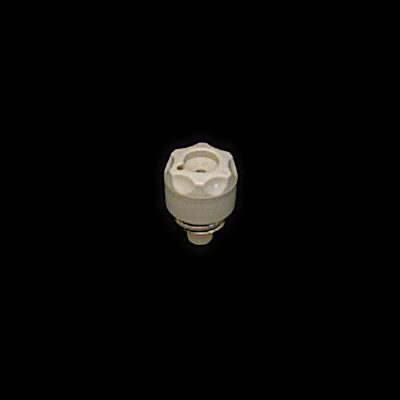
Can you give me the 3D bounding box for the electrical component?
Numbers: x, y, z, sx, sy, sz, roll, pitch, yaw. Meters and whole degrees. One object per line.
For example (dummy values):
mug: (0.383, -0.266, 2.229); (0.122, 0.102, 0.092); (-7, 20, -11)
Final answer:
electrical component: (0.000, 0.000, 0.639); (0.043, 0.062, 0.043); (1, 42, 0)
